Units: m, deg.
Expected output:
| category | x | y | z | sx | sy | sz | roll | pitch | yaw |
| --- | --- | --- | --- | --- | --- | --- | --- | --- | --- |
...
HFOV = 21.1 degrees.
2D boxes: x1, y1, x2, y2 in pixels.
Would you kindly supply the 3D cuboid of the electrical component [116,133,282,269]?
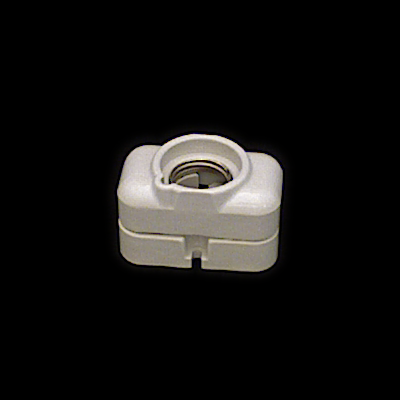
| category | x | y | z | sx | sy | sz | roll | pitch | yaw |
| --- | --- | --- | --- | --- | --- | --- | --- | --- | --- |
| electrical component | 0.000 | 0.000 | 0.637 | 0.095 | 0.060 | 0.053 | 3 | 42 | 3 |
